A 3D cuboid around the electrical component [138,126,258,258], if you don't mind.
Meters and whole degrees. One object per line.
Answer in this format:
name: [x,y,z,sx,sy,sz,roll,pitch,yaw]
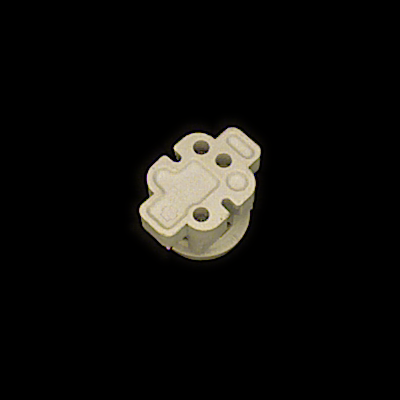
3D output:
electrical component: [0.000,0.000,0.634,0.057,0.079,0.056,41,-18,17]
